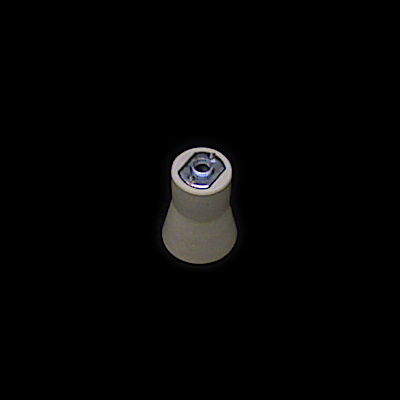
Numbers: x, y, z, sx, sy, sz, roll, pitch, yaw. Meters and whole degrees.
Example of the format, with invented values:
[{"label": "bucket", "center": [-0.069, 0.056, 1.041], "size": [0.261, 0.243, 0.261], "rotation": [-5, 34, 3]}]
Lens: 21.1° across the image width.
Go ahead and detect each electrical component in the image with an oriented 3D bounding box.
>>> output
[{"label": "electrical component", "center": [0.000, 0.000, 0.625], "size": [0.044, 0.044, 0.065], "rotation": [0, -38, -2]}]
